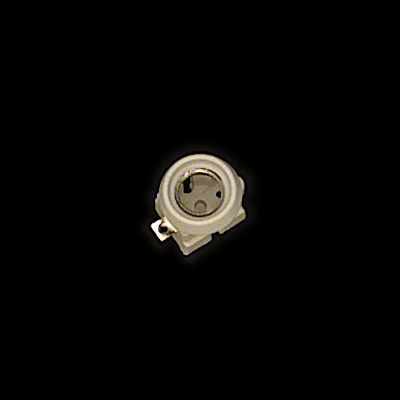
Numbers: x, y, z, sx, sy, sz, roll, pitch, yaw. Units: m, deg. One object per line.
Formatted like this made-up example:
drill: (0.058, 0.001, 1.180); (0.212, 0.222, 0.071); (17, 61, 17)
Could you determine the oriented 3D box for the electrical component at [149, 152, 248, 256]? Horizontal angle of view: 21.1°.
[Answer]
electrical component: (0.000, 0.000, 0.637); (0.067, 0.048, 0.055); (-33, -16, -9)
